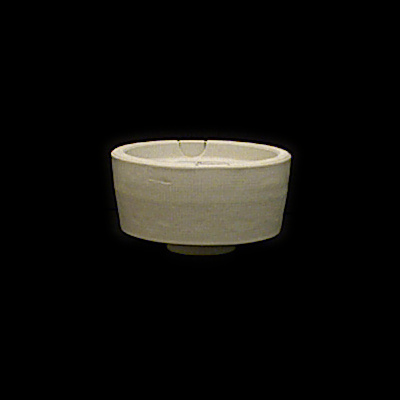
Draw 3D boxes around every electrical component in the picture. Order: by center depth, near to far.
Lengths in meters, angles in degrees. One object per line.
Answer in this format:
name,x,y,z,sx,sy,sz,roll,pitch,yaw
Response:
electrical component,0.000,0.000,0.654,0.108,0.061,0.107,1,11,0
